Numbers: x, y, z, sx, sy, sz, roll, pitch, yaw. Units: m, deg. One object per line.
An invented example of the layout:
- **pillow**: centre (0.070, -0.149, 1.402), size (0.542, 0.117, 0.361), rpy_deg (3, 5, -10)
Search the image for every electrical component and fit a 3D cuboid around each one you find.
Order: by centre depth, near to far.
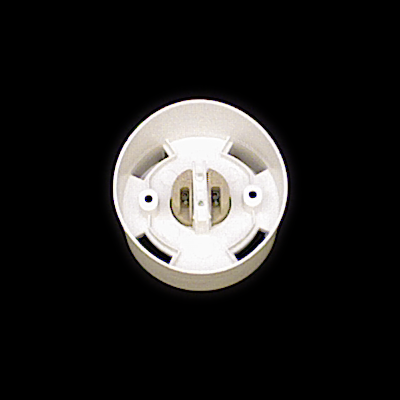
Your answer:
- **electrical component**: centre (0.000, 0.000, 0.624), size (0.099, 0.099, 0.064), rpy_deg (0, -28, 0)
